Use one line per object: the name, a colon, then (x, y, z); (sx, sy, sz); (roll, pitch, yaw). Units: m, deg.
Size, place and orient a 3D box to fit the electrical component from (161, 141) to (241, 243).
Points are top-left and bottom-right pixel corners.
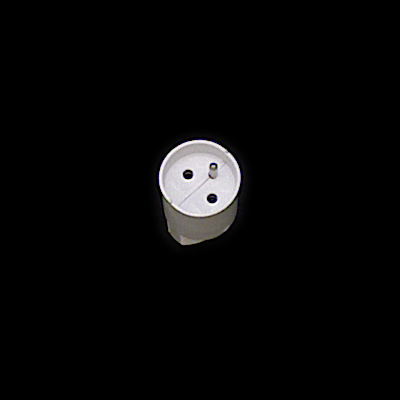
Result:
electrical component: (0.000, 0.000, 0.616); (0.043, 0.043, 0.080); (0, -17, -1)
